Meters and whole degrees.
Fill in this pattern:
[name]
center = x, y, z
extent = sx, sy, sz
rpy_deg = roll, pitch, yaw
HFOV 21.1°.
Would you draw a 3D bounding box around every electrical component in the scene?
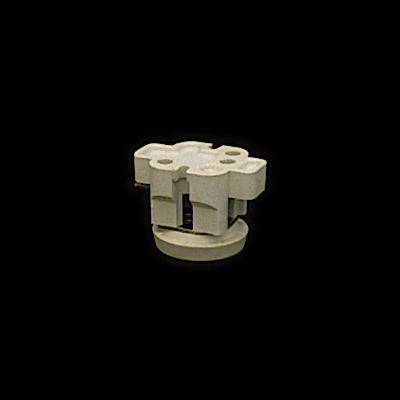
[electrical component]
center = 0.000, 0.000, 0.646
extent = 0.078, 0.057, 0.057
rpy_deg = 8, 24, 21
